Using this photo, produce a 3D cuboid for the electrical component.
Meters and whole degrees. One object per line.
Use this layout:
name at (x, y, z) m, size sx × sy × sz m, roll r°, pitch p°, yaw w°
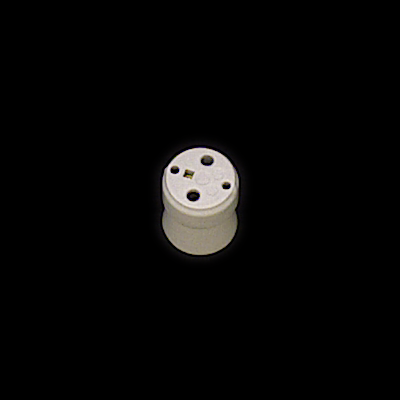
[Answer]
electrical component at (0.000, 0.000, 0.629) m, size 0.045 × 0.045 × 0.055 m, roll 0°, pitch -27°, yaw -1°
